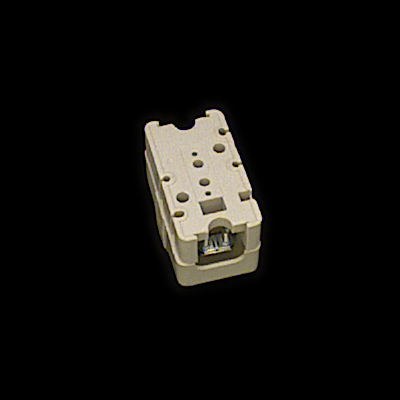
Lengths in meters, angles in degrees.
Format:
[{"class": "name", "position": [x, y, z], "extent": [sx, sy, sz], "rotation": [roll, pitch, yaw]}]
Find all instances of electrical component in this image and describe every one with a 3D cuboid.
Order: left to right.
[{"class": "electrical component", "position": [0.000, 0.000, 0.637], "extent": [0.050, 0.089, 0.056], "rotation": [-12, -35, -9]}]
